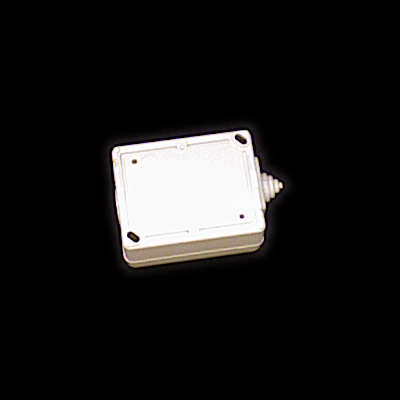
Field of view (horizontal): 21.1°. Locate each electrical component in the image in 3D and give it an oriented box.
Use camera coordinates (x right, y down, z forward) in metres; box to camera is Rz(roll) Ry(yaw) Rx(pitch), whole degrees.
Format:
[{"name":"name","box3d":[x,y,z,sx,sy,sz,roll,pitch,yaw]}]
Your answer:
[{"name":"electrical component","box3d":[0.000,0.000,0.627,0.096,0.062,0.060,-8,-17,-3]}]
